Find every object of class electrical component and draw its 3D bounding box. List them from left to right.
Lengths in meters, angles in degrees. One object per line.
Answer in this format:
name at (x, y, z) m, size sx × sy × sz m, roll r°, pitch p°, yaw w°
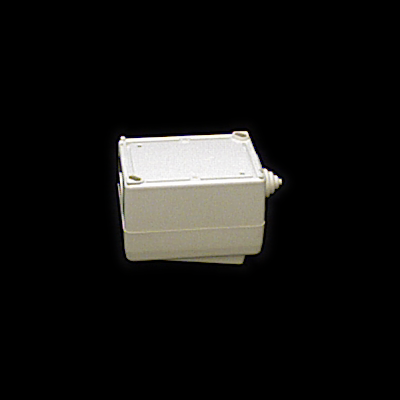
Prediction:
electrical component at (0.000, 0.000, 0.637) m, size 0.096 × 0.062 × 0.061 m, roll -3°, pitch 31°, yaw -7°
